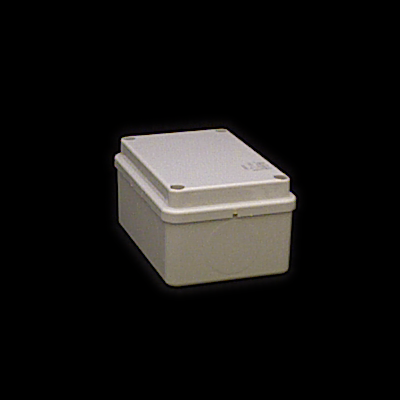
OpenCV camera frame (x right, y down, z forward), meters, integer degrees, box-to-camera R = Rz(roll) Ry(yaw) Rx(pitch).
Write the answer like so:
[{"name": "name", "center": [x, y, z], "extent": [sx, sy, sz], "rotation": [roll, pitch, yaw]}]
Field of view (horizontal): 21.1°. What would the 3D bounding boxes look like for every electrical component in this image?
[{"name": "electrical component", "center": [0.000, 0.000, 0.640], "extent": [0.078, 0.058, 0.111], "rotation": [-6, 22, -19]}]
